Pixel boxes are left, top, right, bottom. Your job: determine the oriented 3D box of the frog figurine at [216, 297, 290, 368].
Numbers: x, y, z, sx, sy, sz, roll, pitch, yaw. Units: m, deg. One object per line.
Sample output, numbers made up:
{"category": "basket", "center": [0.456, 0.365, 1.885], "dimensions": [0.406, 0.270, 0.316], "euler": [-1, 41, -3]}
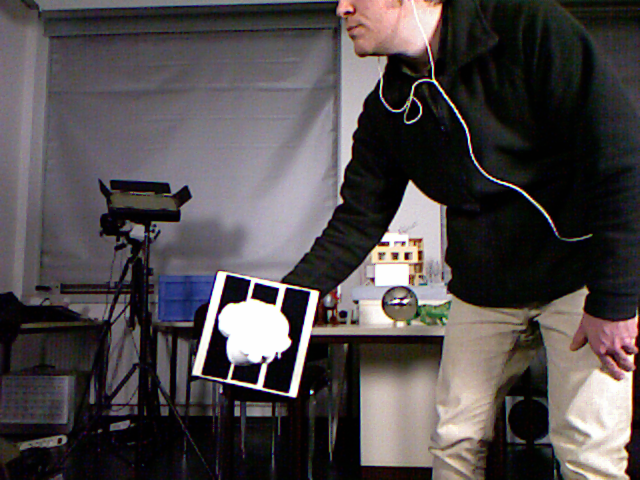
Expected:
{"category": "frog figurine", "center": [-0.124, 0.161, 0.917], "dimensions": [0.138, 0.124, 0.158], "euler": [34, -8, 6]}
